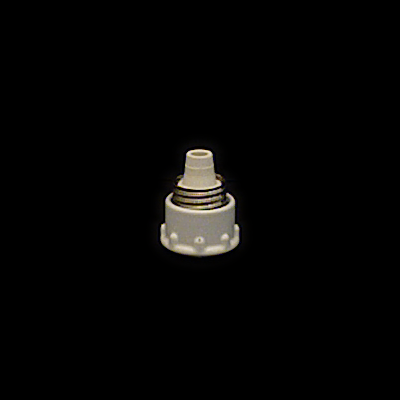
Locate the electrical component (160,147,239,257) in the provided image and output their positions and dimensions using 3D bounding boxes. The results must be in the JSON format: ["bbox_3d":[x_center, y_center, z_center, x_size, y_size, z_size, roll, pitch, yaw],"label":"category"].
[{"bbox_3d":[0.000,0.000,0.645,0.048,0.063,0.047,0,21,0],"label":"electrical component"}]
